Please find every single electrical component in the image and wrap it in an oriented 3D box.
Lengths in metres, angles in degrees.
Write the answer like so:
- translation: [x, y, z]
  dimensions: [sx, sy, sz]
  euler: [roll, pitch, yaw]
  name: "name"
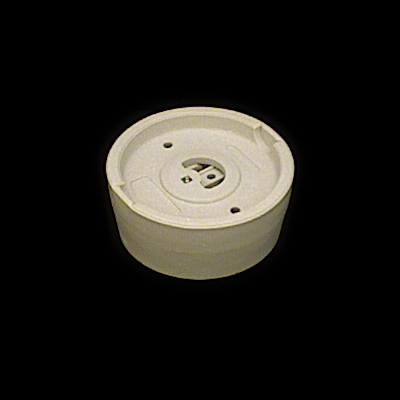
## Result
- translation: [0.000, 0.000, 0.635]
  dimensions: [0.108, 0.061, 0.107]
  euler: [1, 42, 0]
  name: "electrical component"
